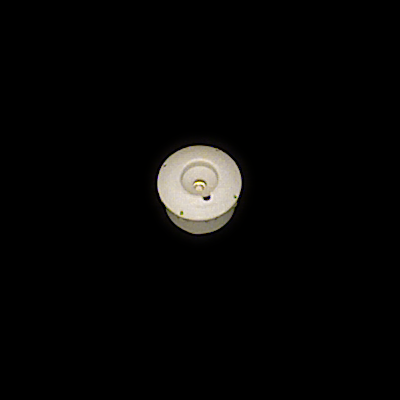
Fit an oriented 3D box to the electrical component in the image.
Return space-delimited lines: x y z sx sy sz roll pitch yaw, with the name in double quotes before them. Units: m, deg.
"electrical component" 0.000 0.000 0.634 0.048 0.048 0.062 0 -26 0
